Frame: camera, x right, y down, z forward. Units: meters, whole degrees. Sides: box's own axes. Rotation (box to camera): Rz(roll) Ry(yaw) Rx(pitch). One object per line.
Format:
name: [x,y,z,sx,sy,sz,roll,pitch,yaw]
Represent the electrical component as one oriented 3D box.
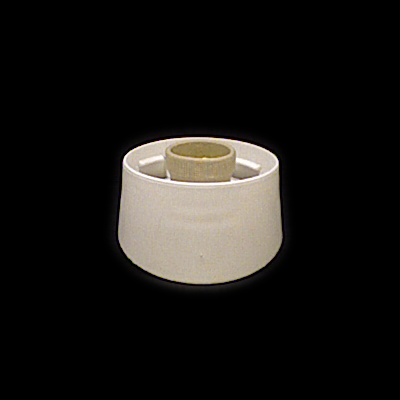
electrical component: [0.000,0.000,0.639,0.099,0.065,0.097,1,21,0]
